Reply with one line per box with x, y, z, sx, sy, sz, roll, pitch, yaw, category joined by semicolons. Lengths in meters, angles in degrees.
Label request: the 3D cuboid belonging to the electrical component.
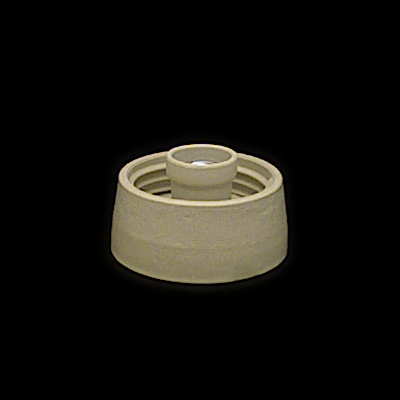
0.000;0.000;0.645;0.108;0.061;0.106;1;21;0;electrical component
